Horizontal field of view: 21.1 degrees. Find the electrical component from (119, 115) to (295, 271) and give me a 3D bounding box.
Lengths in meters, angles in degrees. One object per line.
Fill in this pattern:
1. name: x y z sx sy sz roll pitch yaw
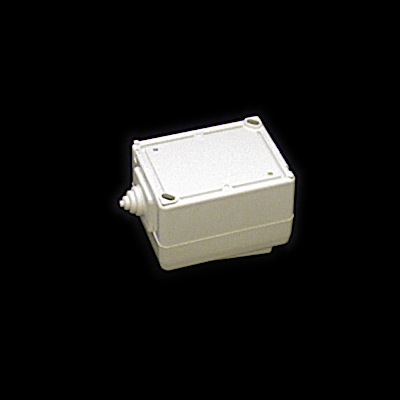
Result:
1. electrical component: 0.000 0.000 0.627 0.096 0.061 0.061 -12 44 -15
